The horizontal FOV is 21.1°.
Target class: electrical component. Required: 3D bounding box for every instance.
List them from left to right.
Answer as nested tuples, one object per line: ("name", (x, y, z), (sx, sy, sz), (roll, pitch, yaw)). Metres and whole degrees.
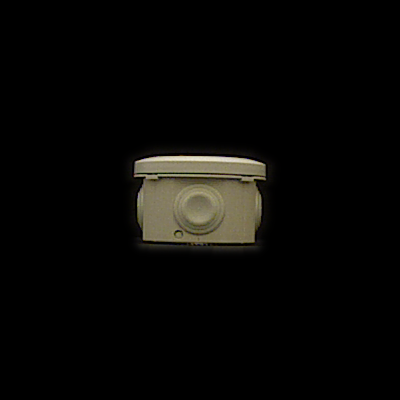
("electrical component", (0.000, 0.000, 0.652), (0.080, 0.051, 0.080), (1, 0, 0))
